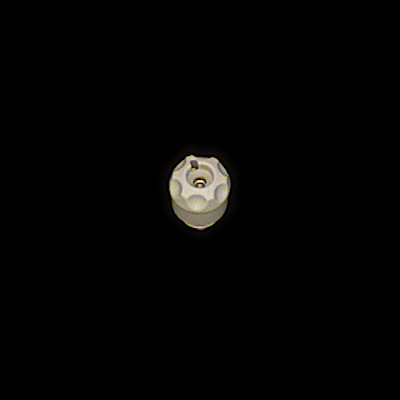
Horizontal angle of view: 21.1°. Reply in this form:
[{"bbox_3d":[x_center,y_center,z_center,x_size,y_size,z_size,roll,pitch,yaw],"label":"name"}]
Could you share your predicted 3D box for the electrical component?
[{"bbox_3d":[0.000,0.000,0.635,0.035,0.035,0.061,0,-27,0],"label":"electrical component"}]
